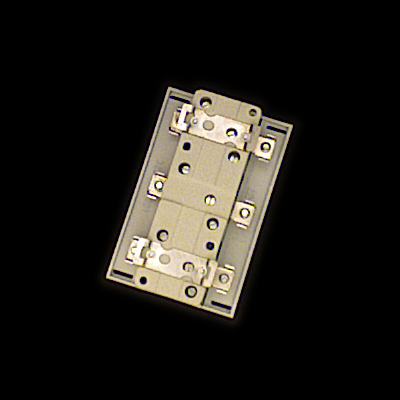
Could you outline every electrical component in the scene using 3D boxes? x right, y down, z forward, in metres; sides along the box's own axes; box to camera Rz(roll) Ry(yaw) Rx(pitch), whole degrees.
[{"bbox_3d":[0.000,0.000,0.634,0.078,0.122,0.063,17,-6,3],"label":"electrical component"}]
